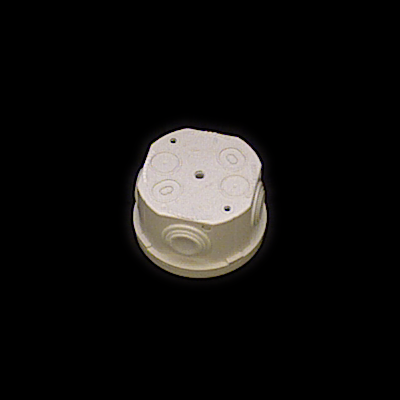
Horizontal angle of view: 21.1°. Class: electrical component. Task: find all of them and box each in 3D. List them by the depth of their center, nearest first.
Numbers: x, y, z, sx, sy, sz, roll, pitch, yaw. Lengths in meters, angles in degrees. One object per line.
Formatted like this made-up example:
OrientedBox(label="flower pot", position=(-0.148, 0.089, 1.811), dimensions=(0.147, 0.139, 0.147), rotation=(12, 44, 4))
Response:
OrientedBox(label="electrical component", position=(0.000, 0.000, 0.633), dimensions=(0.080, 0.080, 0.051), rotation=(0, -38, 0))
